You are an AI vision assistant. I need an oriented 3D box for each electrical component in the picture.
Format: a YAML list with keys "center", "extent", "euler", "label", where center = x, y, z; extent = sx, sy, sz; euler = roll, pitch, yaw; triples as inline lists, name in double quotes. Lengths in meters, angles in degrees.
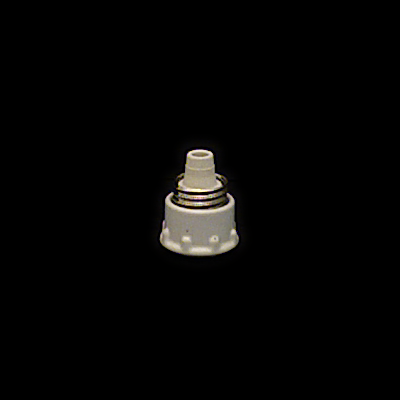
- center: [0.000, 0.000, 0.644]
  extent: [0.048, 0.063, 0.047]
  euler: [1, 23, 0]
  label: "electrical component"
